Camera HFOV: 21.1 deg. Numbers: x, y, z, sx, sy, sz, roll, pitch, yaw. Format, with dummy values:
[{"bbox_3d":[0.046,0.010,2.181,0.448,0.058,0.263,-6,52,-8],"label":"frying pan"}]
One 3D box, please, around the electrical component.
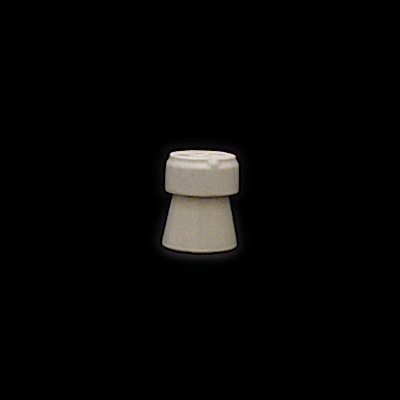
[{"bbox_3d":[0.000,0.000,0.645,0.045,0.055,0.044,2,11,0],"label":"electrical component"}]
